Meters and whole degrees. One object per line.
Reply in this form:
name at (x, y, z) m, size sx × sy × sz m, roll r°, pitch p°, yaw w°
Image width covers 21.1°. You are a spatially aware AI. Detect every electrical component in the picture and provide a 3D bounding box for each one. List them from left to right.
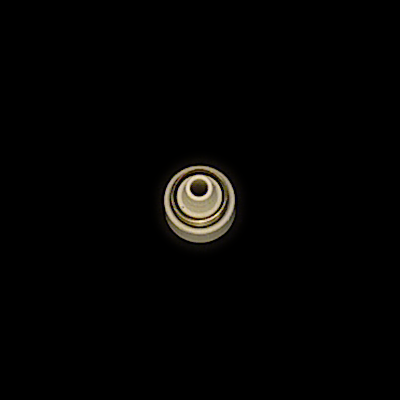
electrical component at (0.000, 0.000, 0.633) m, size 0.043 × 0.043 × 0.061 m, roll 0°, pitch -14°, yaw 0°
